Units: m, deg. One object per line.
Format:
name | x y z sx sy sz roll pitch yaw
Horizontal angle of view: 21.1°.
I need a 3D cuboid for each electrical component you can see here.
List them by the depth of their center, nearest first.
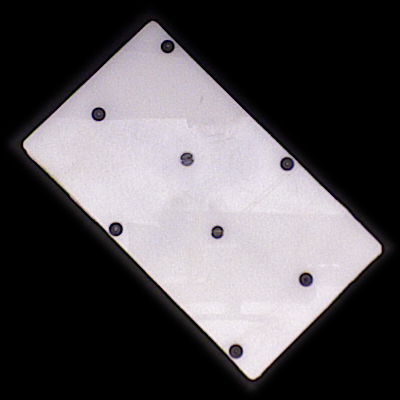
electrical component | 0.000 0.000 0.626 0.106 0.186 0.060 -45 -5 -5
